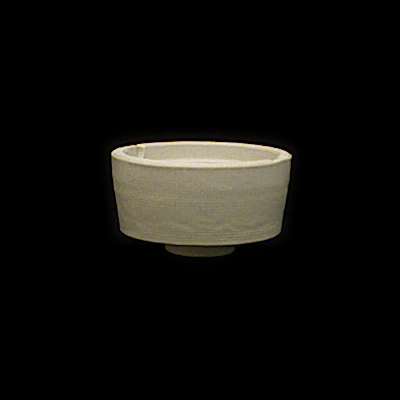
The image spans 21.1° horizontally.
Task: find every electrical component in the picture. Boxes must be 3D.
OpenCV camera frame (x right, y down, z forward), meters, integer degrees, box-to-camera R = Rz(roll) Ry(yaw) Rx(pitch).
[{"bbox_3d":[0.000,0.000,0.652,0.108,0.061,0.107,1,11,0],"label":"electrical component"}]
